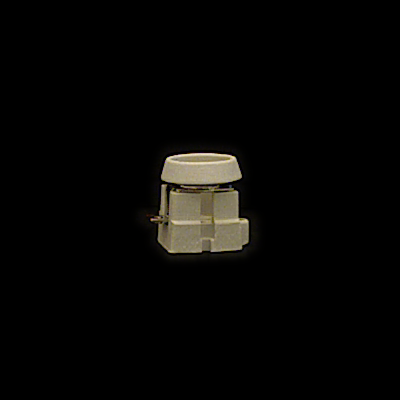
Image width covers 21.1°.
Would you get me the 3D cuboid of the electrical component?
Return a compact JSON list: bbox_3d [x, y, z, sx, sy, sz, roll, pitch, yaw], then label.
[{"bbox_3d":[0.000,0.000,0.650,0.067,0.056,0.048,-2,10,-17],"label":"electrical component"}]
